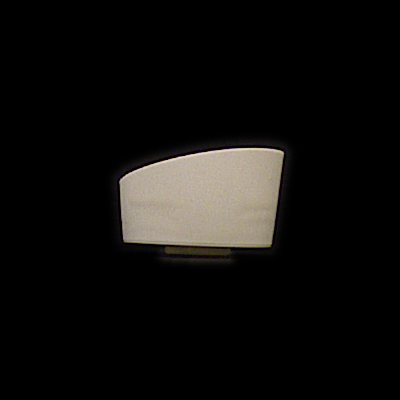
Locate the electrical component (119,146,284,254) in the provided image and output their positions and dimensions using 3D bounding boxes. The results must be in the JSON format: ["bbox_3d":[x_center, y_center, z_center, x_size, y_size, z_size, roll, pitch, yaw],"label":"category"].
[{"bbox_3d":[0.000,0.000,0.650,0.099,0.064,0.099,2,0,0],"label":"electrical component"}]
